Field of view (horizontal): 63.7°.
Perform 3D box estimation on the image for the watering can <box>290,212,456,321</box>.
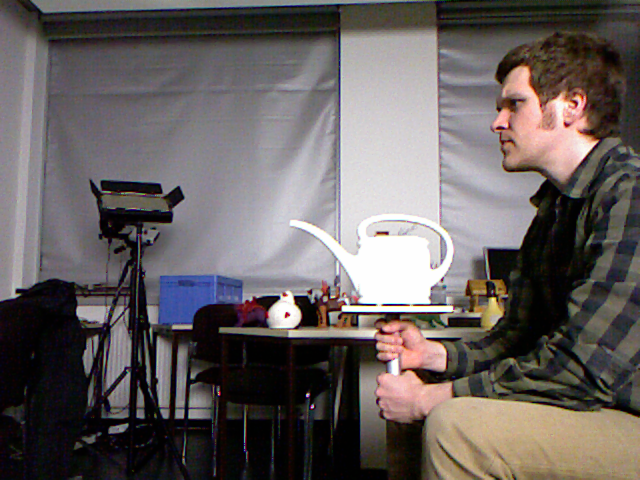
[{"bbox_3d":[0.109,0.052,1.062,0.348,0.226,0.103,1,-7,-3],"label":"watering can"}]
